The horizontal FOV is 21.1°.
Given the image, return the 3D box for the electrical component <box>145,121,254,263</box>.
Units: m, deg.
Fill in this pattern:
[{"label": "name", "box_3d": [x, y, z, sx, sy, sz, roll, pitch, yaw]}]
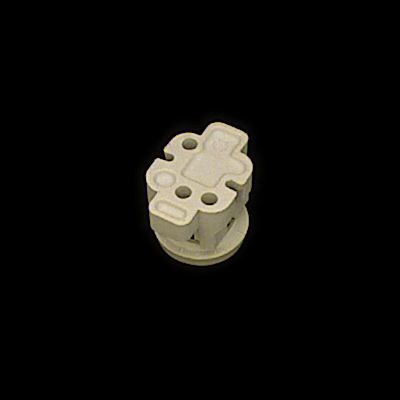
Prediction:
[{"label": "electrical component", "box_3d": [0.000, 0.000, 0.638, 0.057, 0.078, 0.057, 23, -35, 17]}]
